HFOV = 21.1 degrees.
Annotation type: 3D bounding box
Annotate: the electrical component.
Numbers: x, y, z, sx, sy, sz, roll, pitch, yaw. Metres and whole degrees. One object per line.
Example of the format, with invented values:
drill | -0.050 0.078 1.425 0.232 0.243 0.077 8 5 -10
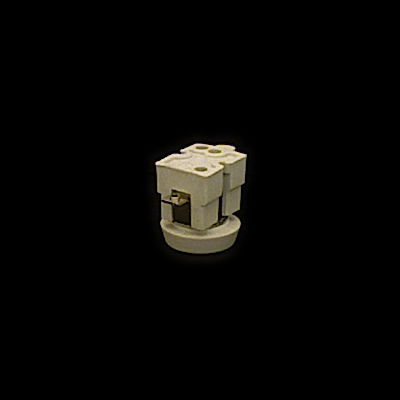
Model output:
electrical component | 0.000 0.000 0.648 0.048 0.056 0.066 17 27 31
